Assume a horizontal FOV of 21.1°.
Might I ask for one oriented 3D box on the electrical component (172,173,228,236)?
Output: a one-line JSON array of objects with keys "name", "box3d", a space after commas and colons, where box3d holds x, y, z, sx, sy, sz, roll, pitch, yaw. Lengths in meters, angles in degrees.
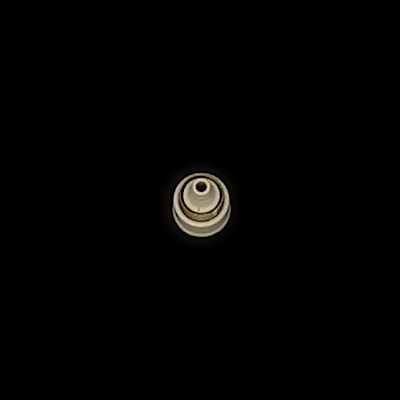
[{"name": "electrical component", "box3d": [0.000, 0.000, 0.637, 0.035, 0.035, 0.061, 0, -15, 0]}]
